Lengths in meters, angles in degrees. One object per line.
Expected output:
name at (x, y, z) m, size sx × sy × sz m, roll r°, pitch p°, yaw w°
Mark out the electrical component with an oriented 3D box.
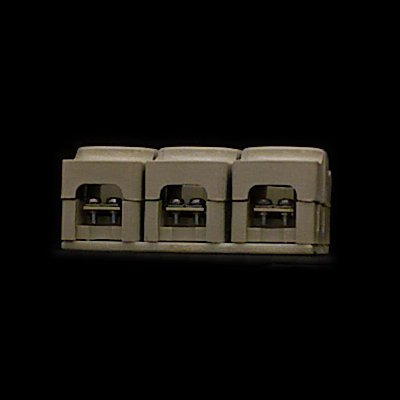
electrical component at (0.000, 0.000, 0.658) m, size 0.150 × 0.062 × 0.089 m, roll 2°, pitch -1°, yaw 12°
